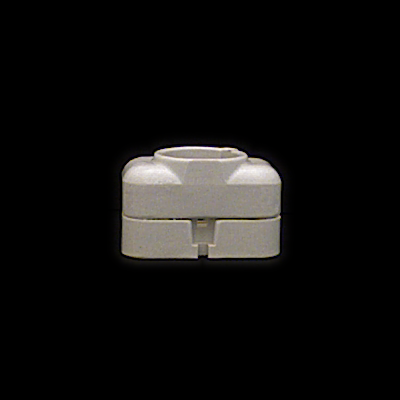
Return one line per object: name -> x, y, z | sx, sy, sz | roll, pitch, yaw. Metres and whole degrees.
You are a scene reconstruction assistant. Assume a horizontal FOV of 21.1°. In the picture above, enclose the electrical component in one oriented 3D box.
electrical component -> 0.000, 0.000, 0.652 | 0.095, 0.060, 0.053 | 0, 12, -6
